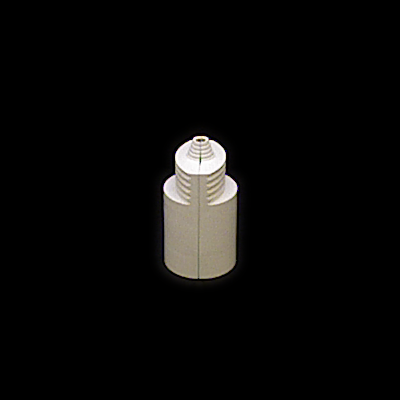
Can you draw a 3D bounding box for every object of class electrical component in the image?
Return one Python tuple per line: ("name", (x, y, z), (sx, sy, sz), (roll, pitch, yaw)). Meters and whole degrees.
("electrical component", (0.000, 0.000, 0.629), (0.043, 0.082, 0.042), (1, 31, 0))
